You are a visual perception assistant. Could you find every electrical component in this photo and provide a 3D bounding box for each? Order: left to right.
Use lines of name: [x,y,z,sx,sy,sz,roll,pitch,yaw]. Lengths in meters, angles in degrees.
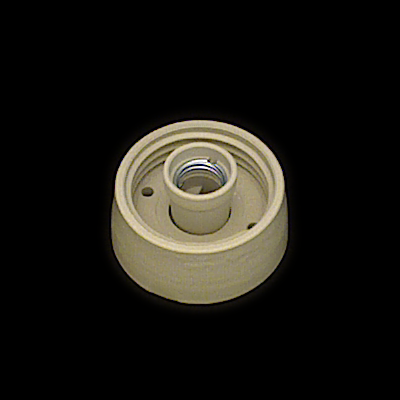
electrical component: [0.000,0.000,0.634,0.108,0.107,0.060,0,-37,-1]
